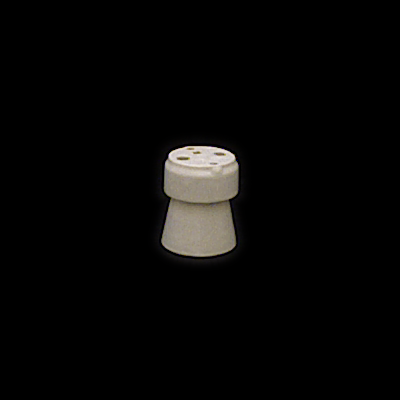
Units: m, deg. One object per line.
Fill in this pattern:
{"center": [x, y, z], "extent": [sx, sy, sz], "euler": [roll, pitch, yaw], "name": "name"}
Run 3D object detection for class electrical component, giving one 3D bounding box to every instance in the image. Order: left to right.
{"center": [0.000, 0.000, 0.641], "extent": [0.045, 0.056, 0.044], "euler": [1, 22, 0], "name": "electrical component"}
